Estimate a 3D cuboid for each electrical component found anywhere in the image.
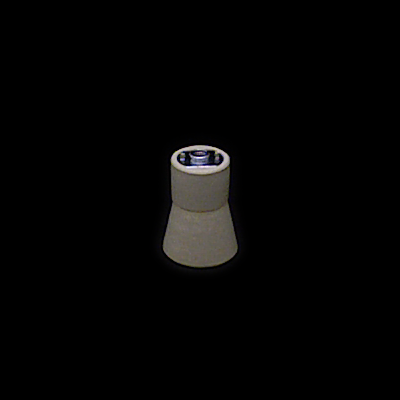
[{"bbox_3d":[0.000,0.000,0.635,0.044,0.066,0.044,0,30,0],"label":"electrical component"}]
